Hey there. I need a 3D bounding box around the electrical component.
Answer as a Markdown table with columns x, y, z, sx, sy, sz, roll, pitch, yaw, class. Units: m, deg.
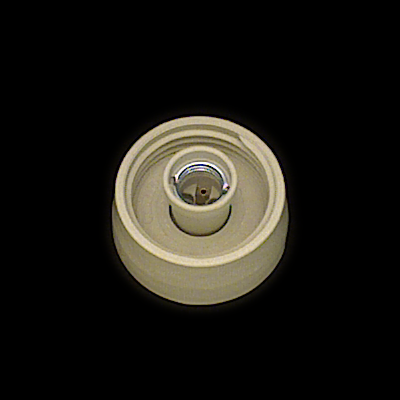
| x | y | z | sx | sy | sz | roll | pitch | yaw | class |
| --- | --- | --- | --- | --- | --- | --- | --- | --- | --- |
| 0.000 | 0.000 | 0.634 | 0.108 | 0.108 | 0.060 | 0 | -27 | 0 | electrical component |
